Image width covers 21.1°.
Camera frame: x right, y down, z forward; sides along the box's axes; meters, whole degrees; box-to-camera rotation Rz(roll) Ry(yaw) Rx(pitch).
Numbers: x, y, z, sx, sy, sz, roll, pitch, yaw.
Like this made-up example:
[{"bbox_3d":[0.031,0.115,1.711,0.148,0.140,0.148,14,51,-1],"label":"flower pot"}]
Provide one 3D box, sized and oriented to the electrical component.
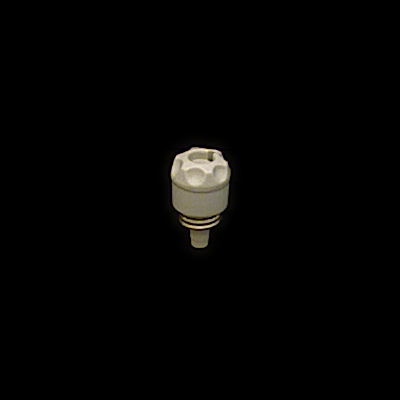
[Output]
[{"bbox_3d":[0.000,0.000,0.642,0.035,0.062,0.034,1,32,0],"label":"electrical component"}]
